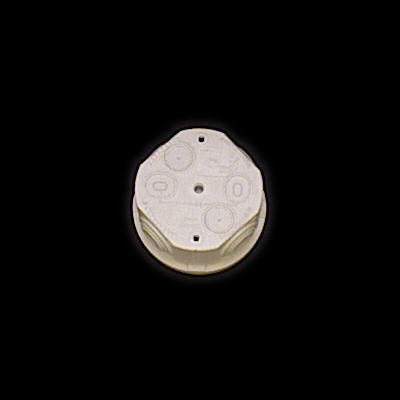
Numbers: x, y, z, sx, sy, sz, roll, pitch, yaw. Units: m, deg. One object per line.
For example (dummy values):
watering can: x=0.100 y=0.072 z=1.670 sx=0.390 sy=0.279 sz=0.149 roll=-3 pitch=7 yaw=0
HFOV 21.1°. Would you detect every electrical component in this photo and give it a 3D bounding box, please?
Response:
electrical component: x=0.000 y=0.000 z=0.632 sx=0.080 sy=0.080 sz=0.050 roll=0 pitch=-18 yaw=0
